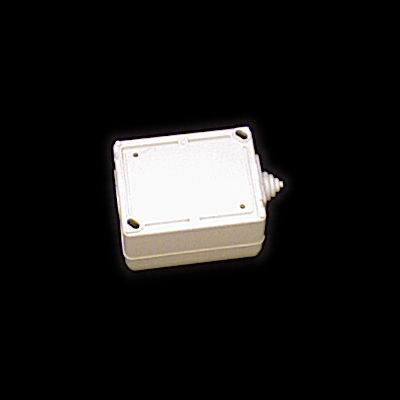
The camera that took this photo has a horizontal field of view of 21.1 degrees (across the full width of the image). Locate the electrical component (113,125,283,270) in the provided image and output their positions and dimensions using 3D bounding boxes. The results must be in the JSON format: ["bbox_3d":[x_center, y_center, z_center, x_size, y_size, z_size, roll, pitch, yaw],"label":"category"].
[{"bbox_3d":[0.000,0.000,0.627,0.096,0.062,0.060,-7,-27,-5],"label":"electrical component"}]
